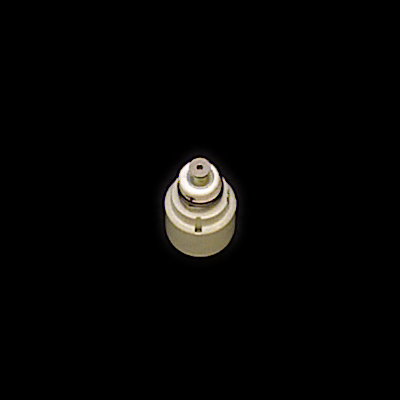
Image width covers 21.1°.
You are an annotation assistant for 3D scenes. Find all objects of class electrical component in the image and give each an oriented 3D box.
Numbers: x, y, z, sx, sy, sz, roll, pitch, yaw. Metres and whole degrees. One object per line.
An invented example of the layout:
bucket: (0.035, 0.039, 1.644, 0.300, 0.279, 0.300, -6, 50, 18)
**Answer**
electrical component: (0.000, 0.000, 0.618, 0.040, 0.040, 0.078, 0, -28, 0)
